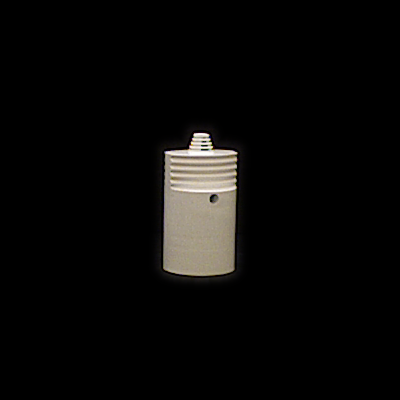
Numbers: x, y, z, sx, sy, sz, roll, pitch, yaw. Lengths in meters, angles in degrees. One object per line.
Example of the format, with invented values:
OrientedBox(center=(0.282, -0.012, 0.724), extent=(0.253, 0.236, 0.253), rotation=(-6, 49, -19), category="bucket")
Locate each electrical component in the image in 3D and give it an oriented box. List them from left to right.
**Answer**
OrientedBox(center=(0.000, 0.000, 0.642), extent=(0.043, 0.081, 0.043), rotation=(1, 11, 0), category="electrical component")
